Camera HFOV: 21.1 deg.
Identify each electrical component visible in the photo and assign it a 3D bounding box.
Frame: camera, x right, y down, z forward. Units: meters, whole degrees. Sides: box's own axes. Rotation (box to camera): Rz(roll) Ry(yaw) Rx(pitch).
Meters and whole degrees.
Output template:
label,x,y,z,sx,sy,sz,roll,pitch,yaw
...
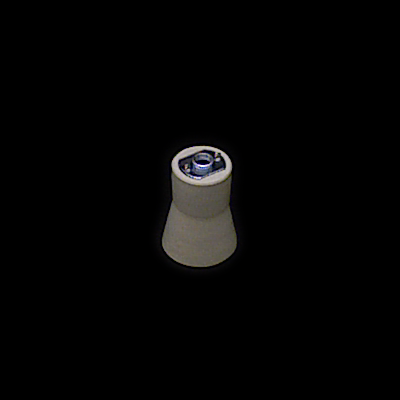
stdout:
label,x,y,z,sx,sy,sz,roll,pitch,yaw
electrical component,0.000,0.000,0.628,0.044,0.066,0.044,1,42,-1
